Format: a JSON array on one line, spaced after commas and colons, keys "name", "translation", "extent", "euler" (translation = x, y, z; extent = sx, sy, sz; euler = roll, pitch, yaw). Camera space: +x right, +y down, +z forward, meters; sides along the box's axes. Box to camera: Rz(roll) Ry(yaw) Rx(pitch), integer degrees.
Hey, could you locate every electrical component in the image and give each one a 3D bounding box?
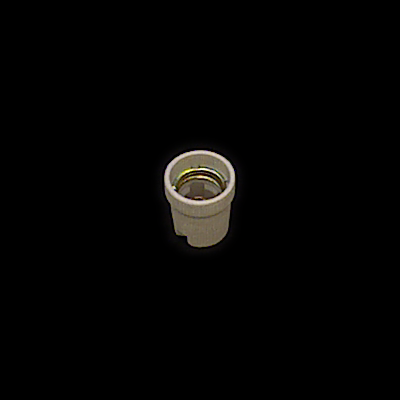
[{"name": "electrical component", "translation": [0.000, 0.000, 0.630], "extent": [0.040, 0.040, 0.046], "euler": [0, -38, -1]}]
